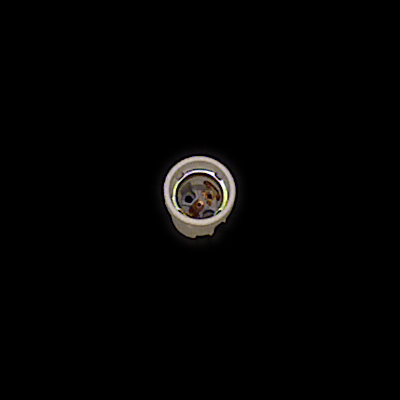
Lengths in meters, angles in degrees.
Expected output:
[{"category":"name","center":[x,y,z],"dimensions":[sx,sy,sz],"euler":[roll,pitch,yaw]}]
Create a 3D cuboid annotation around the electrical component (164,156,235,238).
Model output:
[{"category":"electrical component","center":[0.000,0.000,0.626],"dimensions":[0.040,0.040,0.046],"euler":[0,-17,0]}]
